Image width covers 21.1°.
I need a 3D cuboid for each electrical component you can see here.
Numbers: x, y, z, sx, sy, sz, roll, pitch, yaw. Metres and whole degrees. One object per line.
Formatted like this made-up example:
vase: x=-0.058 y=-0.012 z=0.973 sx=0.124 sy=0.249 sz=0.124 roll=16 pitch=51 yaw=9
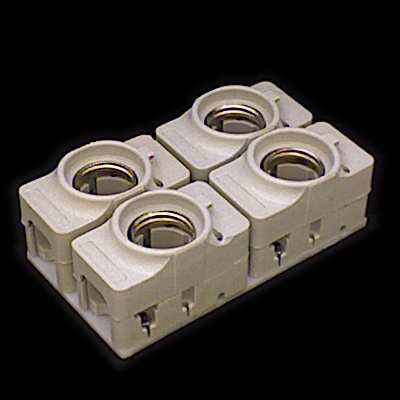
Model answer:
electrical component: x=0.000 y=0.000 z=0.631 sx=0.186 sy=0.061 sz=0.104 roll=-26 pitch=48 yaw=-27
